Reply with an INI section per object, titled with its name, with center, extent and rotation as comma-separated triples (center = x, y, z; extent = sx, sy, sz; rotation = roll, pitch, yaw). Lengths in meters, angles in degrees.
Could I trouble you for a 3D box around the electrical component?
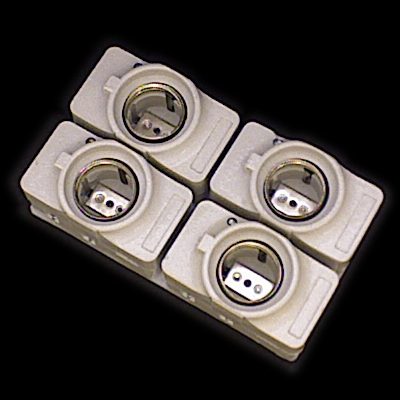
[electrical component]
center = 0.000, 0.000, 0.625
extent = 0.186, 0.106, 0.060
rotation = 29, -15, 9
